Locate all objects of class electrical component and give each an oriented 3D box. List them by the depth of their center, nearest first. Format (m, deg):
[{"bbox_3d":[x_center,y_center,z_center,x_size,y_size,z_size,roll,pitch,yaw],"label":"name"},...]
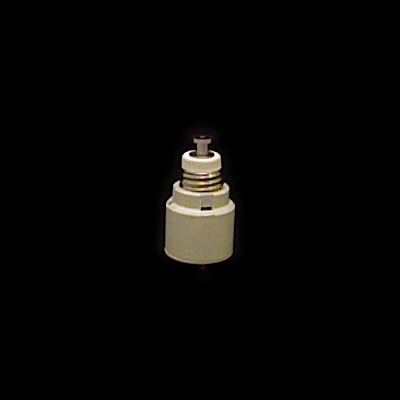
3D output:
[{"bbox_3d":[0.000,0.000,0.635,0.040,0.079,0.039,2,21,0],"label":"electrical component"}]
